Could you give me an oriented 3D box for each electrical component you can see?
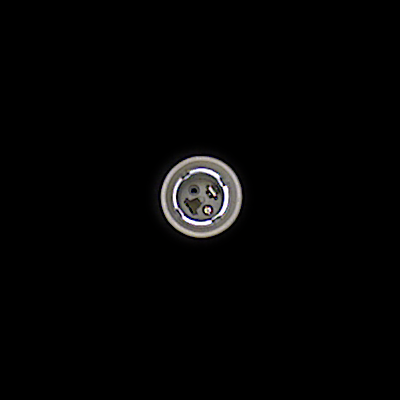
[{"bbox_3d":[0.000,0.000,0.624,0.044,0.044,0.065,0,-5,0],"label":"electrical component"}]
